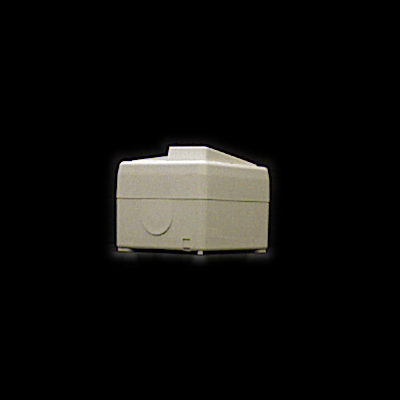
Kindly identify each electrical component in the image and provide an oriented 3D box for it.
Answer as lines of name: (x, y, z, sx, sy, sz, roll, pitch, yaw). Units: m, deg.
electrical component: (0.000, 0.000, 0.652, 0.061, 0.061, 0.096, 2, 0, 32)
